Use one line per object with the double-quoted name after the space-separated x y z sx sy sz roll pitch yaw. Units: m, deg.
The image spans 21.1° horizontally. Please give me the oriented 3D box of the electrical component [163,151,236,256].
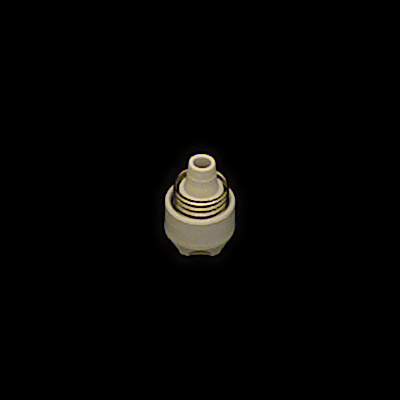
0.000 0.000 0.638 0.043 0.062 0.043 1 43 -1 "electrical component"
